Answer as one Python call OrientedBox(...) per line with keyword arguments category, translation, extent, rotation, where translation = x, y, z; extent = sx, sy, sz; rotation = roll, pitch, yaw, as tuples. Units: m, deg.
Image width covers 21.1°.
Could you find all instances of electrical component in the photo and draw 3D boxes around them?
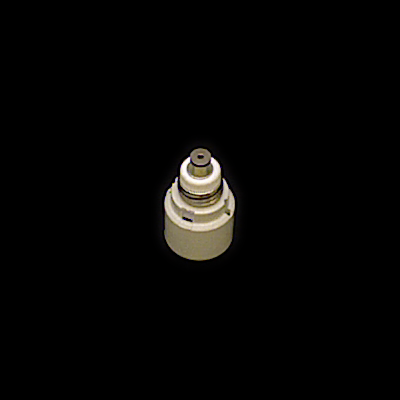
OrientedBox(category="electrical component", translation=(0.000, 0.000, 0.621), extent=(0.040, 0.040, 0.079), rotation=(0, -38, -2))
